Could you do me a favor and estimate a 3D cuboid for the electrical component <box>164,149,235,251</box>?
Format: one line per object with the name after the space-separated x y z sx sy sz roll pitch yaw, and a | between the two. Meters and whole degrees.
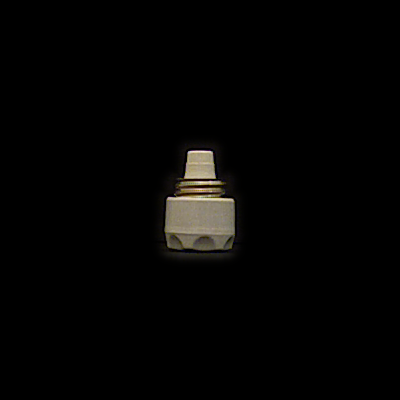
0.000 0.000 0.657 0.043 0.062 0.043 1 1 1 | electrical component
